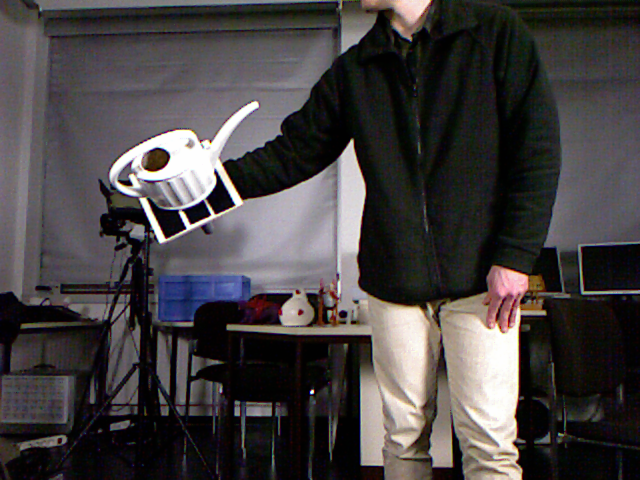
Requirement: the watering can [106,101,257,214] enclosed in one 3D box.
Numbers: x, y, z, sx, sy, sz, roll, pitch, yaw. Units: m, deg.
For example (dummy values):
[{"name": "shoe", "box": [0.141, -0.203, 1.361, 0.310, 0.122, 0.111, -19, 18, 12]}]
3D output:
[{"name": "watering can", "box": [-0.278, -0.170, 1.119, 0.349, 0.106, 0.221, -25, -23, -6]}]
